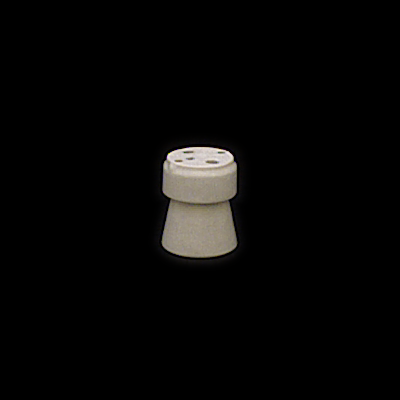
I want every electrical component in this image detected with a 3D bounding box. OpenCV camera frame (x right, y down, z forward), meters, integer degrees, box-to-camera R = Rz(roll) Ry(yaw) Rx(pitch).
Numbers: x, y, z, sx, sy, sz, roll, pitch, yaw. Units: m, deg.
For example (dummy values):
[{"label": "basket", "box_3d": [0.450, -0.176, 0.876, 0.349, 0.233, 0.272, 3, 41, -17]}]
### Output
[{"label": "electrical component", "box_3d": [0.000, 0.000, 0.641, 0.045, 0.056, 0.044, 1, 21, 0]}]
